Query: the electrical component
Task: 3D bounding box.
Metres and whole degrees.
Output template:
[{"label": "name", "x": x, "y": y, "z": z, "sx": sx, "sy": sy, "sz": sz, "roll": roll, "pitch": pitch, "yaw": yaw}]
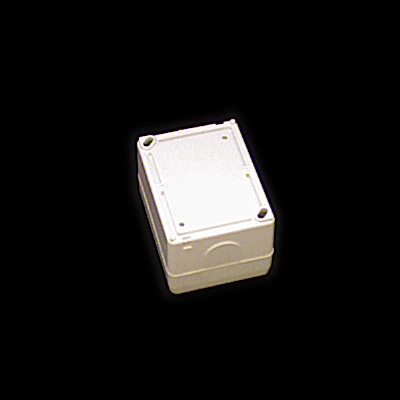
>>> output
[{"label": "electrical component", "x": 0.000, "y": 0.000, "z": 0.630, "sx": 0.062, "sy": 0.096, "sz": 0.061, "roll": -12, "pitch": -38, "yaw": -10}]
